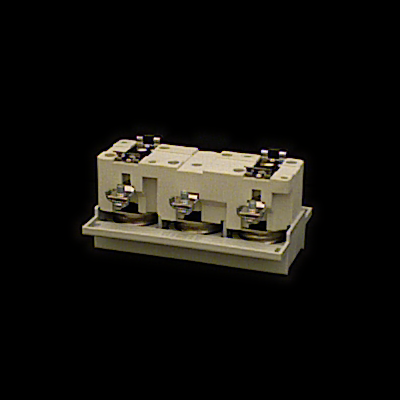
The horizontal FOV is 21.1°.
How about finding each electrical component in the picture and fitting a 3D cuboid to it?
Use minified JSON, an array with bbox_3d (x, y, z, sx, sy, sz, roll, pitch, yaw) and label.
[{"bbox_3d":[0.000,0.000,0.649,0.121,0.064,0.078,8,22,16],"label":"electrical component"}]
